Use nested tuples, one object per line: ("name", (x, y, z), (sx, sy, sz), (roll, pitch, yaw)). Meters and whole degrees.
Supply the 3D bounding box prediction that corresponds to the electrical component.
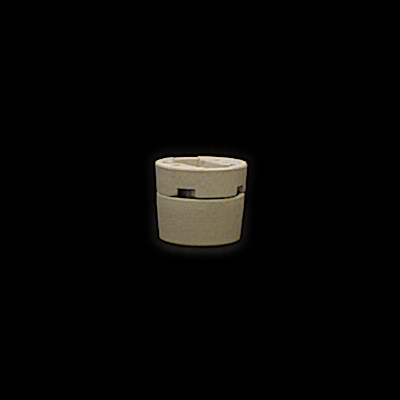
("electrical component", (0.000, 0.000, 0.646), (0.055, 0.047, 0.055), (2, 11, 0))
